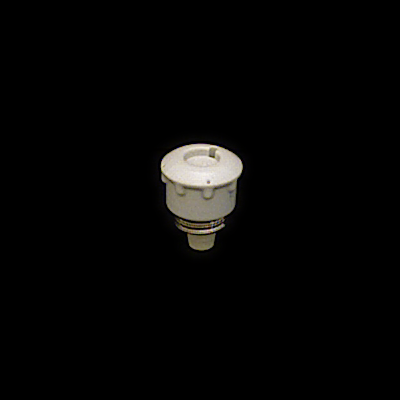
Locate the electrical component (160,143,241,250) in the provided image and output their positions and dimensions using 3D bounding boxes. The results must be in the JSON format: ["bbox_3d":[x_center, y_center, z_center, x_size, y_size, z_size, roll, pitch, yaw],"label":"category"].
[{"bbox_3d":[0.000,0.000,0.642,0.048,0.063,0.047,1,32,0],"label":"electrical component"}]
